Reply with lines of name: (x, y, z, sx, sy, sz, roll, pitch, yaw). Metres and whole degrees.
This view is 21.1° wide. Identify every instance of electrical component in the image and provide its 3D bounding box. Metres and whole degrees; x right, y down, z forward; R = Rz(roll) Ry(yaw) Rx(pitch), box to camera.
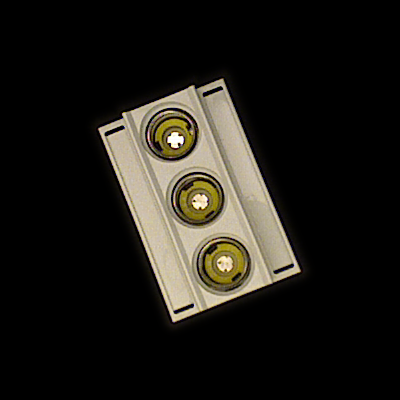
electrical component: (0.000, 0.000, 0.637, 0.079, 0.121, 0.063, -21, -6, 0)
